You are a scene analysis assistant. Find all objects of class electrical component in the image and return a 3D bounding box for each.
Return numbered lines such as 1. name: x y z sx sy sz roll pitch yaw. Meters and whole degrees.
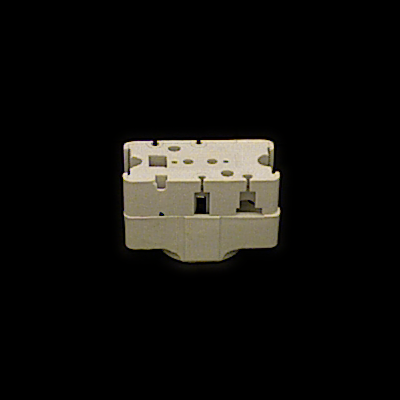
1. electrical component: 0.000 0.000 0.642 0.090 0.056 0.049 -1 33 -3
